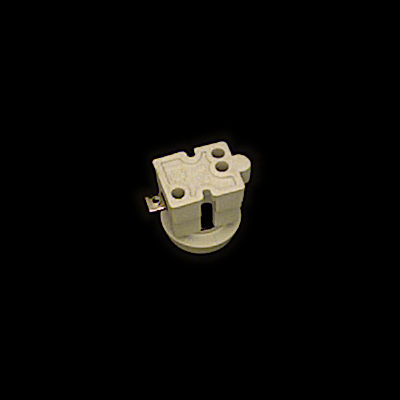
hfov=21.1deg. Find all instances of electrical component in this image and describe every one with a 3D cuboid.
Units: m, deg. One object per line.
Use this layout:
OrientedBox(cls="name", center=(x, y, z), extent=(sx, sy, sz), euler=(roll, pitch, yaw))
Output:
OrientedBox(cls="electrical component", center=(0.000, 0.000, 0.639), extent=(0.067, 0.048, 0.056), euler=(-15, -34, -10))
